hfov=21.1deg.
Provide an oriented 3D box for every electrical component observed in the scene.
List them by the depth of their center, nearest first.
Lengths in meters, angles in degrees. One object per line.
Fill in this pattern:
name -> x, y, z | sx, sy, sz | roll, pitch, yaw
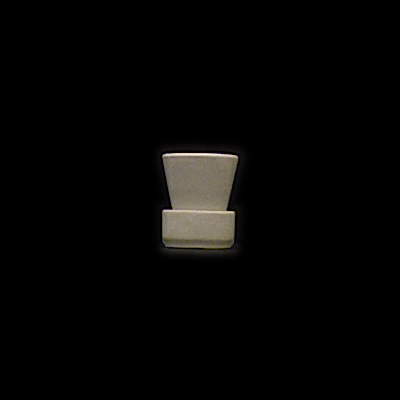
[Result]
electrical component -> 0.000, 0.000, 0.648 | 0.045, 0.055, 0.044 | 1, 2, 0
